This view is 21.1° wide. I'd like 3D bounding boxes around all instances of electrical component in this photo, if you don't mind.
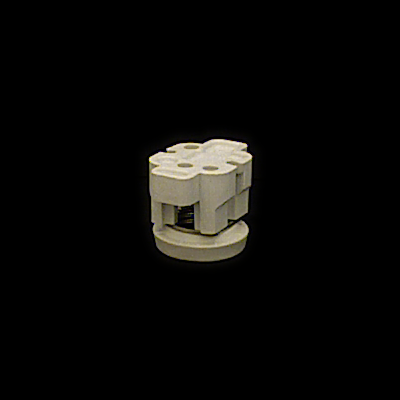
[{"bbox_3d":[0.000,0.000,0.648,0.057,0.057,0.078,11,22,26],"label":"electrical component"}]
